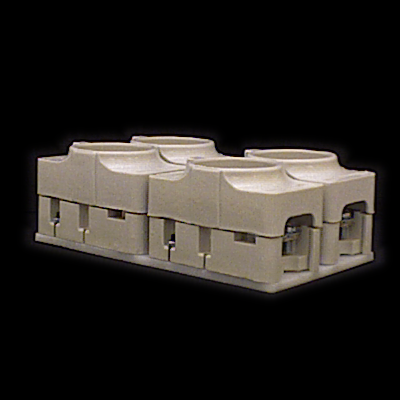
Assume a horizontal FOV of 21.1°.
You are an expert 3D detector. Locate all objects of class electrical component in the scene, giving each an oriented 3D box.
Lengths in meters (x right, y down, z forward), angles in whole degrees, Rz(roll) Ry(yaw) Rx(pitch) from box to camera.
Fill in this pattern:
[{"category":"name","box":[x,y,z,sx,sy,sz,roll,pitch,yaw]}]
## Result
[{"category":"electrical component","box":[0.000,0.000,0.643,0.185,0.060,0.105,9,13,39]}]
